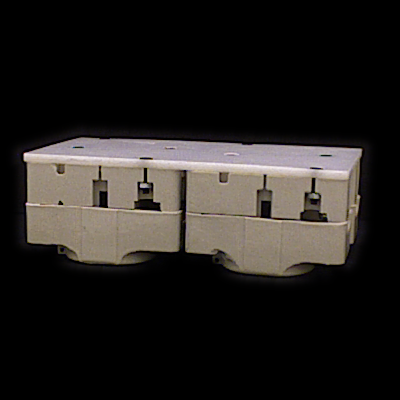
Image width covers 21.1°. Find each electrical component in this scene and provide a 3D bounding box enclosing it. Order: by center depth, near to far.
[{"bbox_3d":[0.000,0.000,0.644,0.186,0.061,0.105,3,10,11],"label":"electrical component"}]
